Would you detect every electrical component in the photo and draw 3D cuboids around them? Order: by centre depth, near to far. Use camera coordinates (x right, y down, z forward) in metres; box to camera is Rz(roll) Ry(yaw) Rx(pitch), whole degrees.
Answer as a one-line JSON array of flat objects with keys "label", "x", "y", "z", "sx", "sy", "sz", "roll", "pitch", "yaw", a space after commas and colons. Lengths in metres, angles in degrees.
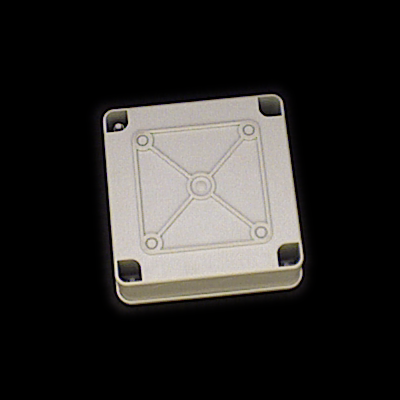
[{"label": "electrical component", "x": 0.000, "y": 0.000, "z": 0.628, "sx": 0.109, "sy": 0.109, "sz": 0.056, "roll": -6, "pitch": -18, "yaw": -1}]
